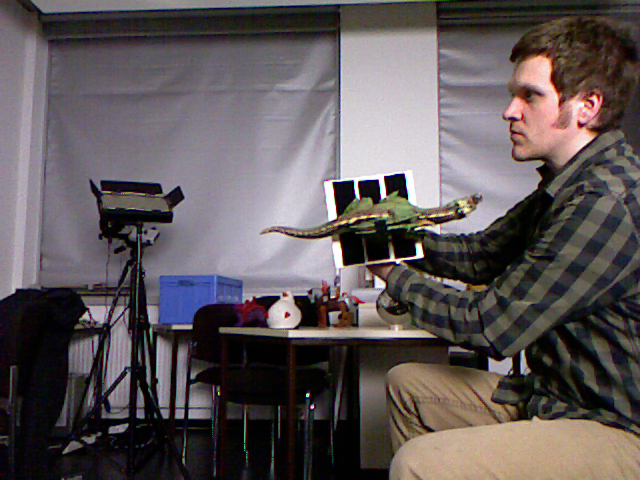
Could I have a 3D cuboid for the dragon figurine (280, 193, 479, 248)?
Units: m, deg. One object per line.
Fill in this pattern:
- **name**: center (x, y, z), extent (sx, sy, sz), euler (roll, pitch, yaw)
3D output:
- **dragon figurine**: center (0.123, -0.040, 1.061), extent (0.412, 0.123, 0.243), euler (-10, 0, -5)
